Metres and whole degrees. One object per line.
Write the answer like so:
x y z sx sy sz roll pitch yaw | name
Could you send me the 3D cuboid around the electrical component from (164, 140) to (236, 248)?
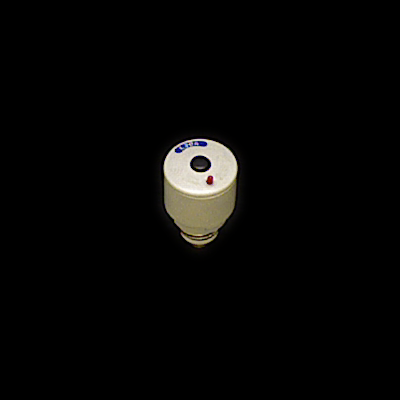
0.000 0.000 0.618 0.040 0.040 0.078 0 -37 -1 | electrical component
